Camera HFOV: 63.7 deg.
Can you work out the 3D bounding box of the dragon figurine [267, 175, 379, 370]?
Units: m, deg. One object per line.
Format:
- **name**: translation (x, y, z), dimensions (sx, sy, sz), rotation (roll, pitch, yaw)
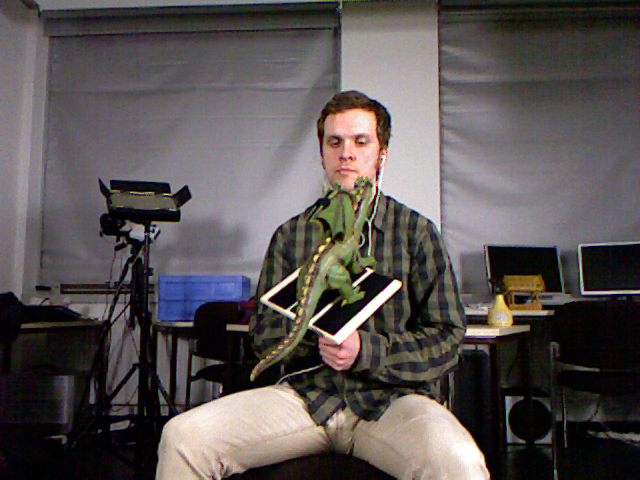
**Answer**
- **dragon figurine**: translation (0.010, 0.017, 0.935), dimensions (0.123, 0.238, 0.420), rotation (13, 42, 25)
